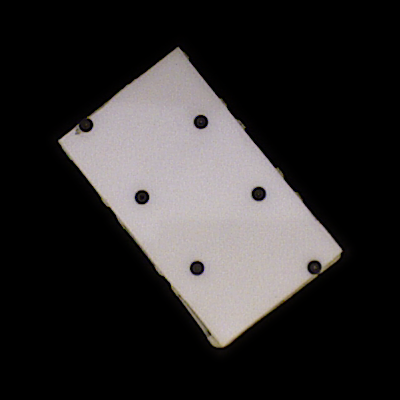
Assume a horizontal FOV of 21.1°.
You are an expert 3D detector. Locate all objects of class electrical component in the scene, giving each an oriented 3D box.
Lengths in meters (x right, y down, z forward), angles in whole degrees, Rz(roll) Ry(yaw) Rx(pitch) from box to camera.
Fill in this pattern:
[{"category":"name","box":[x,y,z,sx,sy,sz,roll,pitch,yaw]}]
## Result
[{"category":"electrical component","box":[0.000,0.000,0.631,0.089,0.150,0.061,-38,-4,-3]}]
